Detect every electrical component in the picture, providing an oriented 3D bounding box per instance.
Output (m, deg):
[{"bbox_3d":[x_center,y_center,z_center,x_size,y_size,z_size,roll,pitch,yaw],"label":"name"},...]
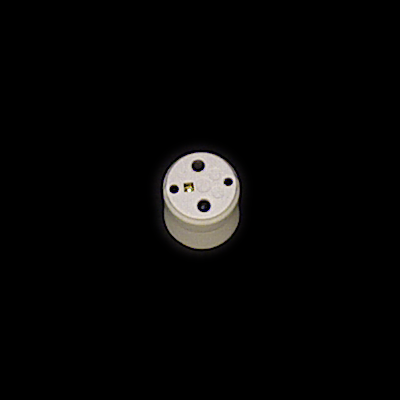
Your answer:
[{"bbox_3d":[0.000,0.000,0.629,0.045,0.045,0.055,0,-17,0],"label":"electrical component"}]
